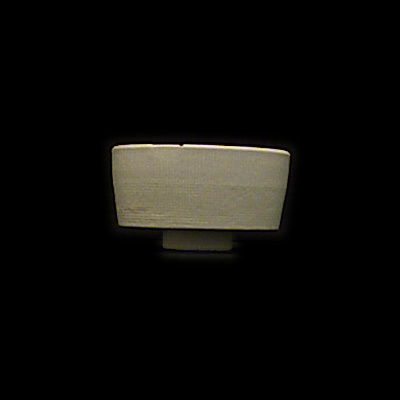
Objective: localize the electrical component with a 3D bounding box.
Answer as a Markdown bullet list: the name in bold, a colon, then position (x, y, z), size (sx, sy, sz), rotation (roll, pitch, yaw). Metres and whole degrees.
- **electrical component**: position (0.000, 0.000, 0.652), size (0.108, 0.060, 0.108), rotation (1, 0, 0)
